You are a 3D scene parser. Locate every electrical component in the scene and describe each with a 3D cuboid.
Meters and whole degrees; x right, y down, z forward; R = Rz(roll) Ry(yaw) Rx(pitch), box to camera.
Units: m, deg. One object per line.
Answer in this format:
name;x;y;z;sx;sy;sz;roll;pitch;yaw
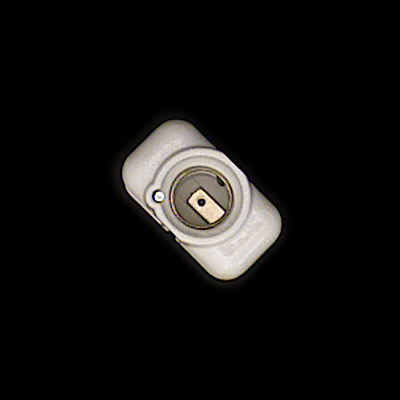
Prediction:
electrical component;0.000;0.000;0.635;0.095;0.054;0.059;44;-3;5
